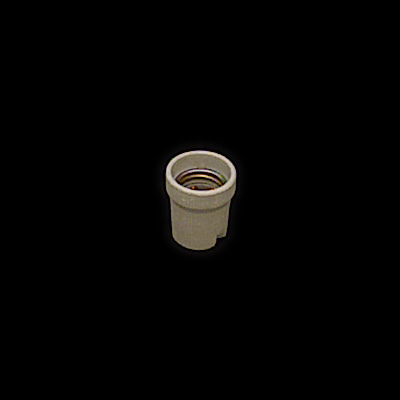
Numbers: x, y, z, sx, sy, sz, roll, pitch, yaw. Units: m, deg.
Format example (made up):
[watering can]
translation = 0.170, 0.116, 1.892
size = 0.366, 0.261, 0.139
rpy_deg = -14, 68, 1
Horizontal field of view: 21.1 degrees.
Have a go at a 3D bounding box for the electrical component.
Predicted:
[electrical component]
translation = 0.000, 0.000, 0.633
size = 0.040, 0.047, 0.039
rpy_deg = 1, 42, 0
